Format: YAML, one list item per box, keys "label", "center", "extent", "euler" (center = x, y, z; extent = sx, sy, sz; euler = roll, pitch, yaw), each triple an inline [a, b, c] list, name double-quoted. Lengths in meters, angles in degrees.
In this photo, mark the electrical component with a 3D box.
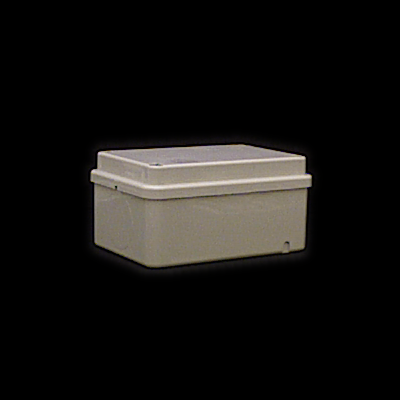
- label: "electrical component"
  center: [0.000, 0.000, 0.642]
  extent: [0.113, 0.057, 0.077]
  euler: [-5, 12, -32]
